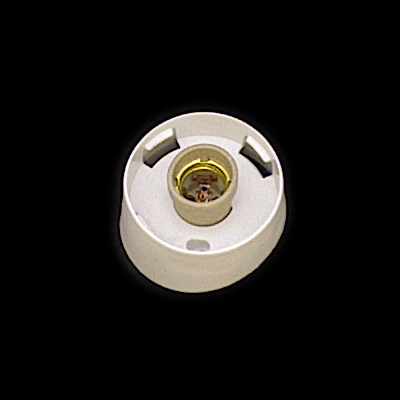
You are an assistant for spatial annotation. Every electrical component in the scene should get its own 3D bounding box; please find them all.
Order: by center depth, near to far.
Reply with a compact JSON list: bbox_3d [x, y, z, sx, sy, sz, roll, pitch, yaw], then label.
[{"bbox_3d":[0.000,0.000,0.625,0.099,0.099,0.064,0,-27,0],"label":"electrical component"}]
